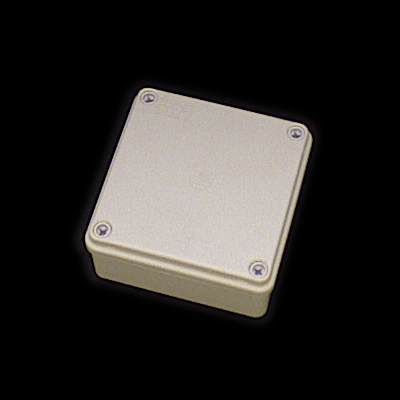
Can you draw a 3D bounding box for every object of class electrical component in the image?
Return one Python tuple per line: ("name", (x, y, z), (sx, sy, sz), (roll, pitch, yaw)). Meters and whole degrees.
("electrical component", (0.000, 0.000, 0.628), (0.108, 0.109, 0.056), (14, -26, 7))
